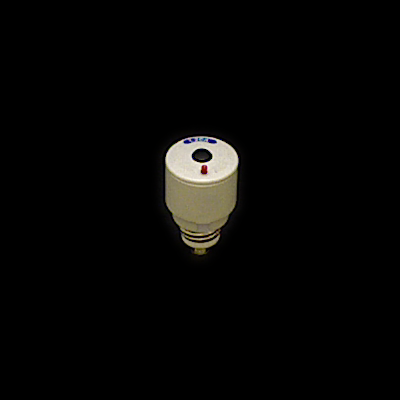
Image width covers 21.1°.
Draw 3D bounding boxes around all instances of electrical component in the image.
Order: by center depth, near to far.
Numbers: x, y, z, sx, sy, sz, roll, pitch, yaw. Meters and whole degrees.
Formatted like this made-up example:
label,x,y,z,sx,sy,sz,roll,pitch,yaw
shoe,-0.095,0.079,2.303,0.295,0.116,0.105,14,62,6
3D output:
label,x,y,z,sx,sy,sz,roll,pitch,yaw
electrical component,0.000,0.000,0.622,0.040,0.079,0.039,1,42,0
